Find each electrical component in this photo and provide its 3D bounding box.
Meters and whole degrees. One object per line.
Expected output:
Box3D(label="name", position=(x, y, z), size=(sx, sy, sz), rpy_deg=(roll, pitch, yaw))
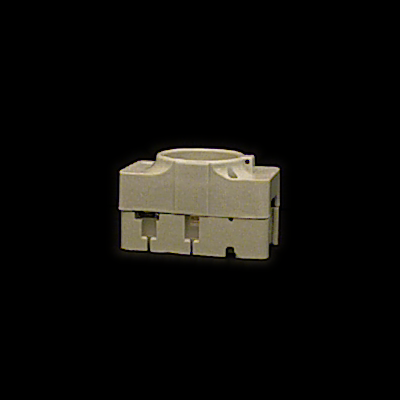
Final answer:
Box3D(label="electrical component", position=(0.000, 0.000, 0.651), size=(0.089, 0.056, 0.050), rpy_deg=(3, 12, 11))
